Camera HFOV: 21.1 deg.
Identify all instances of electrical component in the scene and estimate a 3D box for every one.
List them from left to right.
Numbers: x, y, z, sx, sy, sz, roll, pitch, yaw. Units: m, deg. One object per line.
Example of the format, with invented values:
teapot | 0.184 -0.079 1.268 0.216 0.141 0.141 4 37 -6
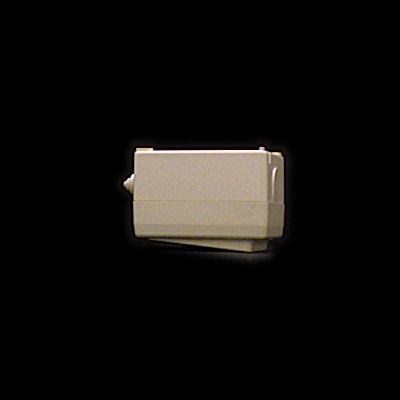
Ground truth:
electrical component | 0.000 0.000 0.653 0.096 0.061 0.062 1 0 14
